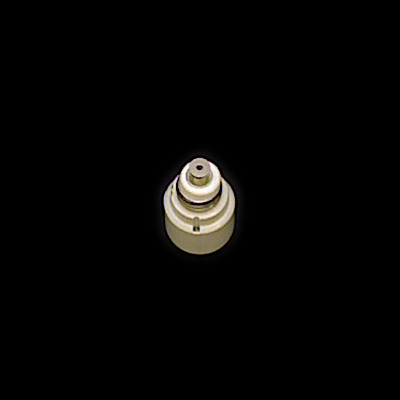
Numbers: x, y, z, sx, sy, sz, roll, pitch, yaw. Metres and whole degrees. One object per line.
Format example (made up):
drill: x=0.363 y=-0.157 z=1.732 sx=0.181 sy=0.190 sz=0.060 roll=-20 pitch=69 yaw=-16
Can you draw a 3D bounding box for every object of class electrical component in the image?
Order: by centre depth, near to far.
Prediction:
electrical component: x=0.000 y=0.000 z=0.619 sx=0.040 sy=0.040 sz=0.078 roll=0 pitch=-26 yaw=-1
